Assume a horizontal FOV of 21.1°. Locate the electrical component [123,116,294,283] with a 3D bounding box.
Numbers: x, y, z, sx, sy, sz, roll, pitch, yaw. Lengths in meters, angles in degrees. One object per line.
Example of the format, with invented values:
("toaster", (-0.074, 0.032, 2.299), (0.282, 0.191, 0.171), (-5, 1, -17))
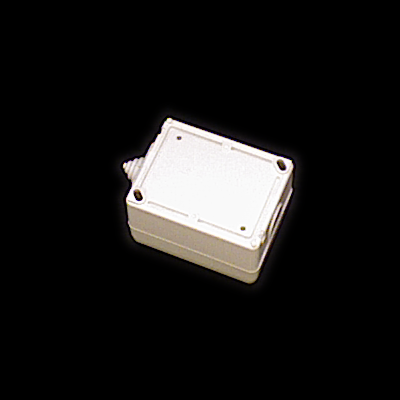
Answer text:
("electrical component", (0.000, 0.000, 0.629), (0.096, 0.062, 0.061), (20, -26, 10))
